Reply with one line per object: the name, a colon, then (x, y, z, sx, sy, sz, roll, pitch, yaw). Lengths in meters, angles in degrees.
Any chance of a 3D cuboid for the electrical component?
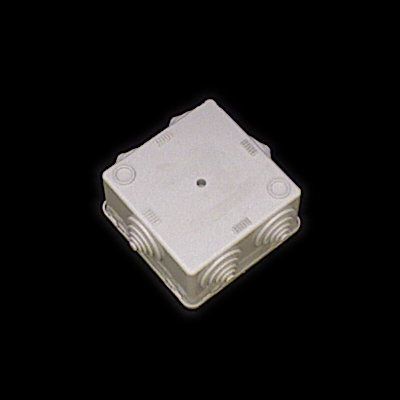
electrical component: (0.000, 0.000, 0.632, 0.100, 0.099, 0.048, -36, -21, -17)
